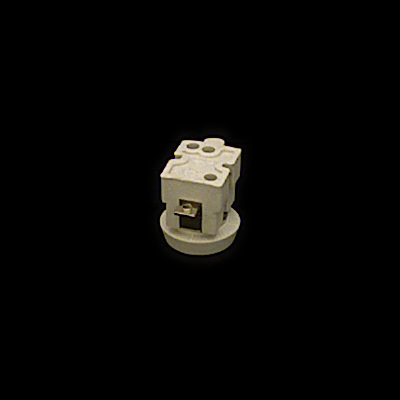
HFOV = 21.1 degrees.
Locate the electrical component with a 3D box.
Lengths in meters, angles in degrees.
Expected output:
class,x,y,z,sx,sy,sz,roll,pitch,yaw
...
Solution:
class,x,y,z,sx,sy,sz,roll,pitch,yaw
electrical component,0.000,0.000,0.644,0.048,0.056,0.066,11,35,13
